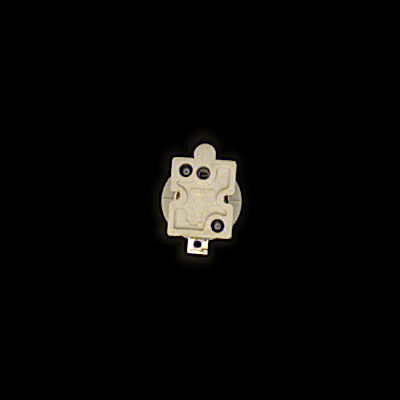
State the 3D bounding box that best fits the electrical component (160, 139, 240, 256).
[{"bbox_3d":[0.000,0.000,0.639,0.048,0.066,0.055,4,-5,0],"label":"electrical component"}]
